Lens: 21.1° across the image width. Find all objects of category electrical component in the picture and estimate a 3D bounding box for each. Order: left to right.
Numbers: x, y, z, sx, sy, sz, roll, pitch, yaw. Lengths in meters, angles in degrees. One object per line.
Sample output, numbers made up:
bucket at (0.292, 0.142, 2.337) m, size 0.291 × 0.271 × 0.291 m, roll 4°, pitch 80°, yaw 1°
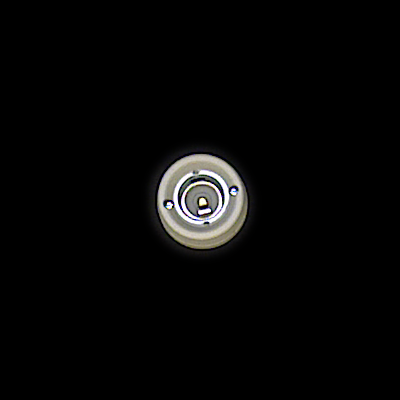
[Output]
electrical component at (0.000, 0.000, 0.634) m, size 0.055 × 0.055 × 0.047 m, roll 0°, pitch -7°, yaw 2°
